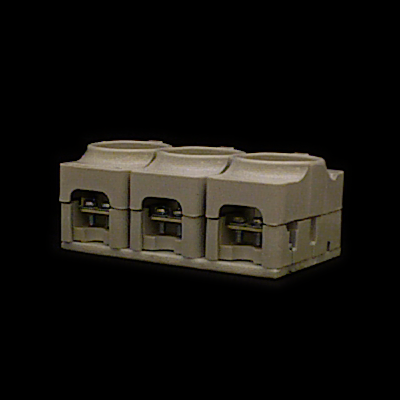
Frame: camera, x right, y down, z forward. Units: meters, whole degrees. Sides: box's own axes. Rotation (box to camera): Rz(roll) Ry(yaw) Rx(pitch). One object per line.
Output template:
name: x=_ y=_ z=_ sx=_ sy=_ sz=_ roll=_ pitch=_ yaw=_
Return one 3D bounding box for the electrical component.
electrical component: x=0.000 y=0.000 z=0.652 sx=0.149 sy=0.062 sz=0.089 roll=7 pitch=11 yaw=29
